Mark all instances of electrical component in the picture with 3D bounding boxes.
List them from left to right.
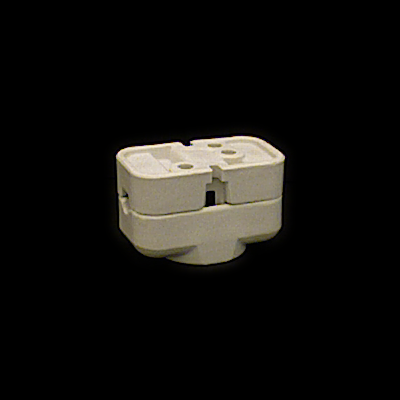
[{"bbox_3d":[0.000,0.000,0.647,0.096,0.060,0.052,-8,24,-21],"label":"electrical component"}]
